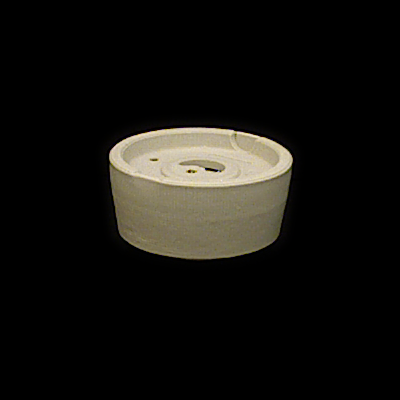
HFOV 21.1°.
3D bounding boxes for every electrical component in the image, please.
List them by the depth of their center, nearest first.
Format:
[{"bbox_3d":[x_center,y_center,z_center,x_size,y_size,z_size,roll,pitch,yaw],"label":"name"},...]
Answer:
[{"bbox_3d":[0.000,0.000,0.642,0.108,0.061,0.106,2,21,0],"label":"electrical component"}]
